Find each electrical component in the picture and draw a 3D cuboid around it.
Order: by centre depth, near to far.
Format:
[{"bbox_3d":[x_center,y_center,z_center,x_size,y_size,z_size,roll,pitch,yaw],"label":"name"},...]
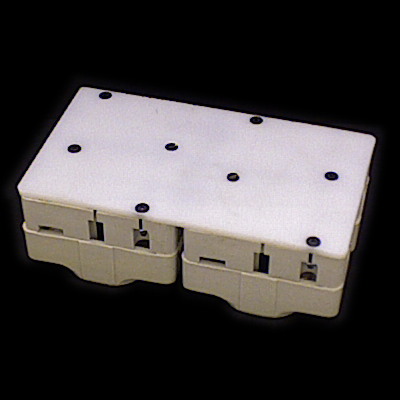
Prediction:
[{"bbox_3d":[0.000,0.000,0.630,0.186,0.061,0.104,11,43,11],"label":"electrical component"}]
